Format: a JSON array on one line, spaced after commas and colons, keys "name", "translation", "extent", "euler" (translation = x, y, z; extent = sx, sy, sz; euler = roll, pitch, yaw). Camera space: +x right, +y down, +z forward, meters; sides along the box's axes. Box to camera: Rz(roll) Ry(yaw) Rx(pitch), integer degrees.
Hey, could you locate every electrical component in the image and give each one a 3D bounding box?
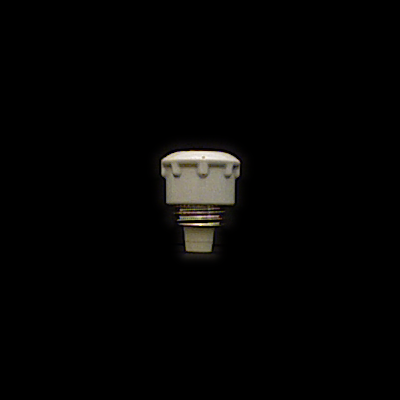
[{"name": "electrical component", "translation": [0.000, 0.000, 0.655], "extent": [0.048, 0.062, 0.048], "euler": [1, 2, 0]}]
